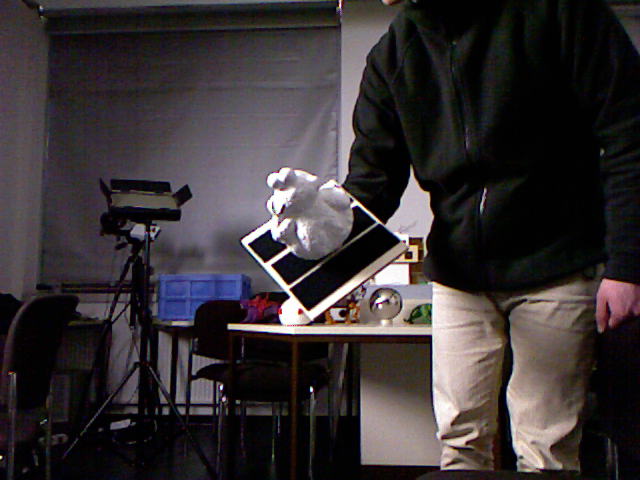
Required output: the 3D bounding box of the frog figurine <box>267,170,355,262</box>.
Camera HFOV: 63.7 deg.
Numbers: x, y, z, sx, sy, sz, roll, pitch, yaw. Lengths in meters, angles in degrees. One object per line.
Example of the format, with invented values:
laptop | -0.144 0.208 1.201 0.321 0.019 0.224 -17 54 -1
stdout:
frog figurine | -0.015 -0.045 0.810 0.138 0.125 0.156 -17 -33 -2
